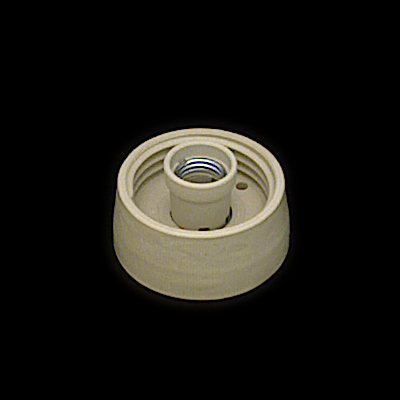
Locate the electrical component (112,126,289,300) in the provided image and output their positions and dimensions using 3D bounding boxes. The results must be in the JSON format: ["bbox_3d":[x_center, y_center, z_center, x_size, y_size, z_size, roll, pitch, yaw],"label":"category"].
[{"bbox_3d":[0.000,0.000,0.638,0.108,0.061,0.107,1,43,0],"label":"electrical component"}]
